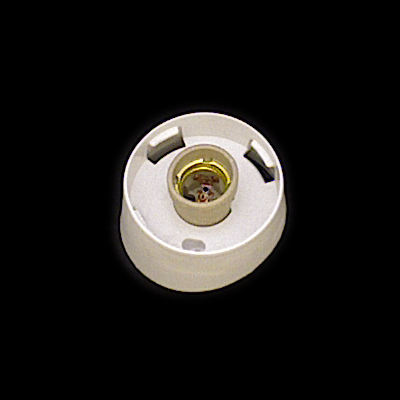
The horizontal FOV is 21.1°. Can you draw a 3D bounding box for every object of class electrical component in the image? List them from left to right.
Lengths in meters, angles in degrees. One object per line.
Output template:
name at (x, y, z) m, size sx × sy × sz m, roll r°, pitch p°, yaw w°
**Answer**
electrical component at (0.000, 0.000, 0.625) m, size 0.099 × 0.099 × 0.064 m, roll 0°, pitch -27°, yaw 0°
